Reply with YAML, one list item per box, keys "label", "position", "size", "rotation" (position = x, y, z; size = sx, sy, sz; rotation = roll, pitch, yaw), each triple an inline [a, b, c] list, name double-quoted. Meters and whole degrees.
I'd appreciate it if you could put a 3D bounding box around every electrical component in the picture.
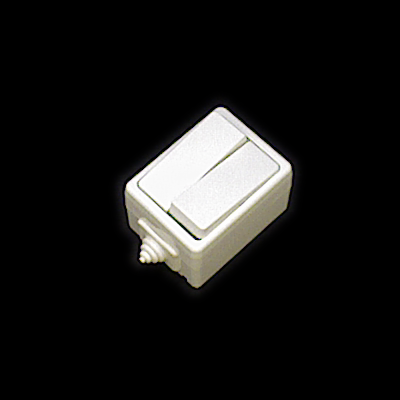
- label: "electrical component"
  position: [0.000, 0.000, 0.625]
  size: [0.096, 0.062, 0.060]
  rotation: [-41, -21, -19]
